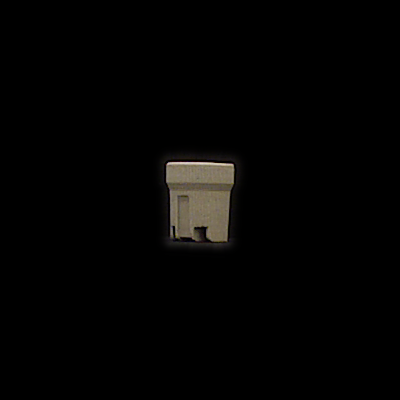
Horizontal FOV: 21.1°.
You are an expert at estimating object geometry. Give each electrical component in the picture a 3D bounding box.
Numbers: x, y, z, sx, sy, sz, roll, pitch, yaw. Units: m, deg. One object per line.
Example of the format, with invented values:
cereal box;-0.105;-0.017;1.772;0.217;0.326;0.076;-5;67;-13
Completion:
electrical component;0.000;0.000;0.647;0.040;0.046;0.040;1;1;1
